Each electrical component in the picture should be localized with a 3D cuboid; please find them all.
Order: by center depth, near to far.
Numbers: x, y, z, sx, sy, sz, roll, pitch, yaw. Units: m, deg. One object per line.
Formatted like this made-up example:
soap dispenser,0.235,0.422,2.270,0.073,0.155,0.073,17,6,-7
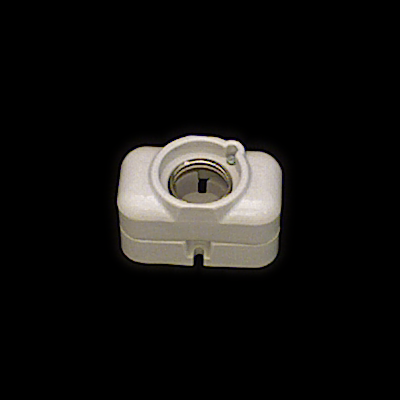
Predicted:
electrical component,0.000,0.000,0.636,0.095,0.053,0.059,2,-37,1
